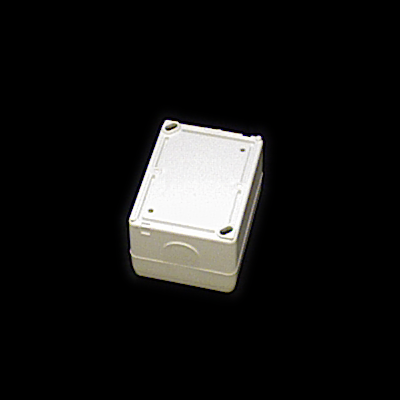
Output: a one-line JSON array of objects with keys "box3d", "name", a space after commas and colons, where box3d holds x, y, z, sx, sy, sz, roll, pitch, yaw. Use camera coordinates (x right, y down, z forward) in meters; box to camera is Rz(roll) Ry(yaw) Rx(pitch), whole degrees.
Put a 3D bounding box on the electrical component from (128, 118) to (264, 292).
[{"box3d": [0.000, 0.000, 0.633, 0.061, 0.095, 0.061, 10, -37, 8], "name": "electrical component"}]
